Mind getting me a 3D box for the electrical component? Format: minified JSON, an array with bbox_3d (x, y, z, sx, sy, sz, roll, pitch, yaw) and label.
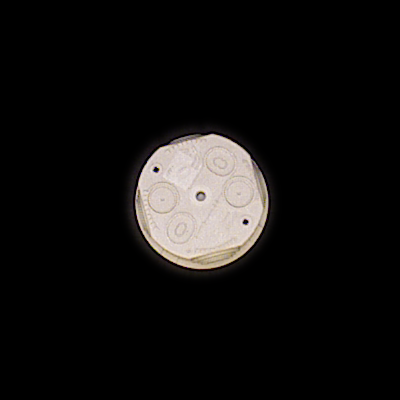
[{"bbox_3d":[0.000,0.000,0.634,0.080,0.080,0.050,0,-7,1],"label":"electrical component"}]
